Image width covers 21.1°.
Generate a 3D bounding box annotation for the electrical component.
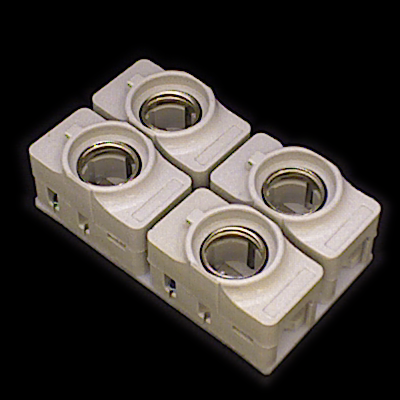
[{"bbox_3d":[0.000,0.000,0.627,0.185,0.060,0.105,34,60,23],"label":"electrical component"}]
